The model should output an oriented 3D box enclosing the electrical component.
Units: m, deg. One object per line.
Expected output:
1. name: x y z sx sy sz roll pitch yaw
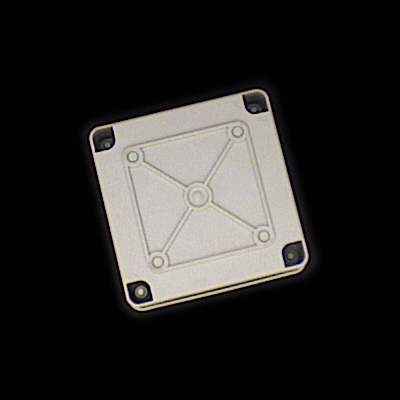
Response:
1. electrical component: 0.000 0.000 0.628 0.109 0.109 0.056 -14 -6 -1
